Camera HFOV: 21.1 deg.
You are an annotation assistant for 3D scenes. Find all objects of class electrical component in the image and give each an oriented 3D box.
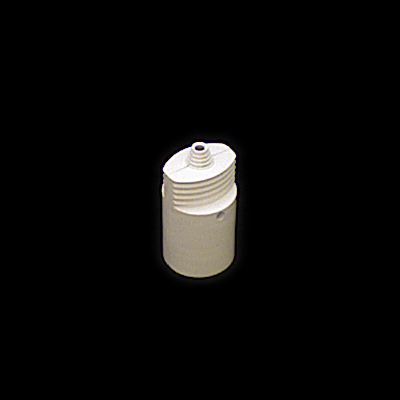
[{"bbox_3d":[0.000,0.000,0.623,0.043,0.082,0.042,0,42,0],"label":"electrical component"}]
